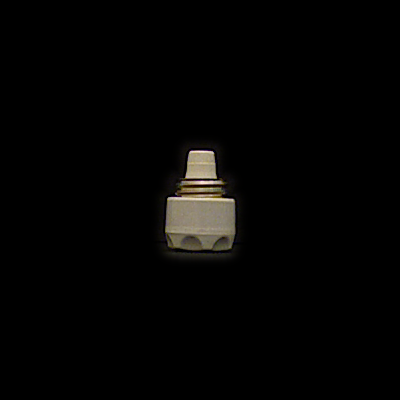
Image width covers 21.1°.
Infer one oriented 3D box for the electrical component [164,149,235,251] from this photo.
[{"bbox_3d":[0.000,0.000,0.657,0.043,0.062,0.043,1,1,1],"label":"electrical component"}]
